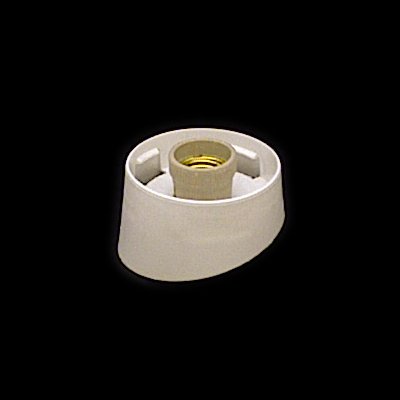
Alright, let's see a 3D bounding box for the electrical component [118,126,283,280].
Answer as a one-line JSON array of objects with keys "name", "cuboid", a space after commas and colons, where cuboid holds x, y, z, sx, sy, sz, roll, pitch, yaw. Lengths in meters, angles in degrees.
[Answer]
[{"name": "electrical component", "cuboid": [0.000, 0.000, 0.634, 0.099, 0.065, 0.097, 0, 31, 0]}]
